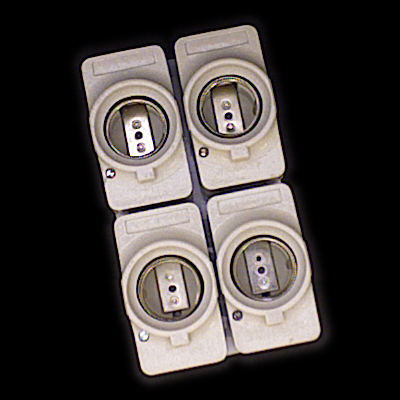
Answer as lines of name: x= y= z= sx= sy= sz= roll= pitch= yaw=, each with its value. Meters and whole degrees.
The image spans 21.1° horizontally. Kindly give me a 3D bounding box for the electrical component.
electrical component: x=0.000 y=0.000 z=0.626 sx=0.105 sy=0.187 sz=0.060 roll=-12 pitch=-6 yaw=-1
